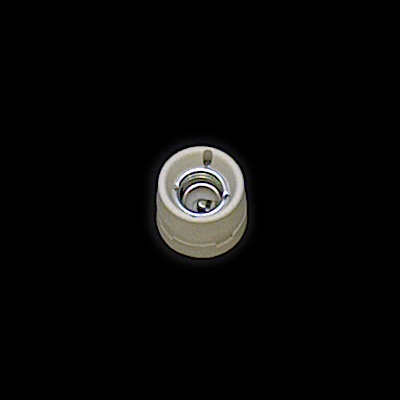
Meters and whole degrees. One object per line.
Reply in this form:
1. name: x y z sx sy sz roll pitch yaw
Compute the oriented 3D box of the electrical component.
1. electrical component: 0.000 0.000 0.632 0.055 0.056 0.047 0 -26 1
